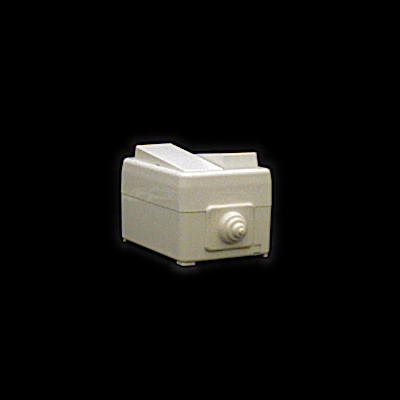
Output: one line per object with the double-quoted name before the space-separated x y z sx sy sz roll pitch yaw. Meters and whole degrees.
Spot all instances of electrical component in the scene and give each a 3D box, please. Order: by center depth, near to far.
"electrical component" 0.000 0.000 0.642 0.061 0.061 0.095 -5 12 -30
